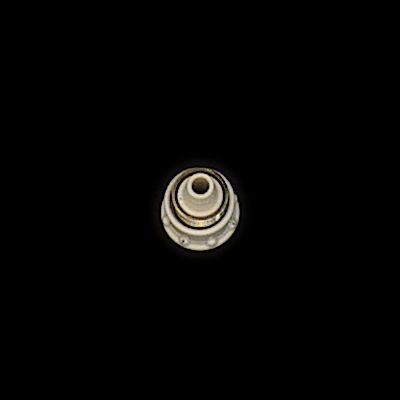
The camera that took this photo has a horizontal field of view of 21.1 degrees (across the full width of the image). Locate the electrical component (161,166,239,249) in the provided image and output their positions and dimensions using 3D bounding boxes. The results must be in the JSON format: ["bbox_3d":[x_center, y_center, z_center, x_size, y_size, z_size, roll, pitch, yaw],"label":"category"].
[{"bbox_3d":[0.000,0.000,0.634,0.048,0.048,0.061,0,-16,-1],"label":"electrical component"}]
